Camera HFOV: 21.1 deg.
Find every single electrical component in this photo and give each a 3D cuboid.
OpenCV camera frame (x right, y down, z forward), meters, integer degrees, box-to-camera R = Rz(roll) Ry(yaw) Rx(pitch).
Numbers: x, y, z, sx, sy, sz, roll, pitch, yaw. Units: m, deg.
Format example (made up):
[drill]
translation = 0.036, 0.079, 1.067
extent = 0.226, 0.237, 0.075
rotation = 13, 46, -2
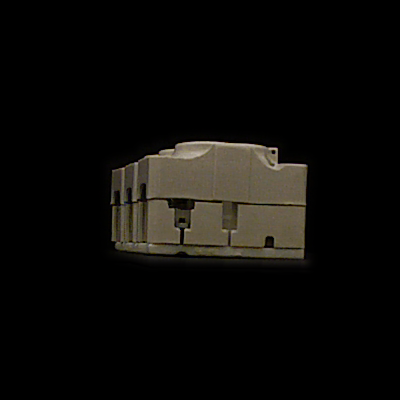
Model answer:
[electrical component]
translation = 0.000, 0.000, 0.657
extent = 0.090, 0.062, 0.150
rotation = 2, 0, -13
